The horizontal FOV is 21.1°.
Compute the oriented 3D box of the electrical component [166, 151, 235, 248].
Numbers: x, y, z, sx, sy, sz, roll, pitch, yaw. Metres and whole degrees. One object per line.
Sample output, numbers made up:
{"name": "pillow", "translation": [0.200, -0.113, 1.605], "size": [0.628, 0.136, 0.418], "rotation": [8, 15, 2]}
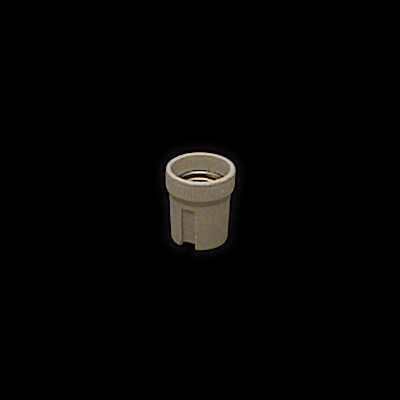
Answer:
{"name": "electrical component", "translation": [0.000, 0.000, 0.638], "size": [0.040, 0.047, 0.039], "rotation": [1, 31, 0]}
